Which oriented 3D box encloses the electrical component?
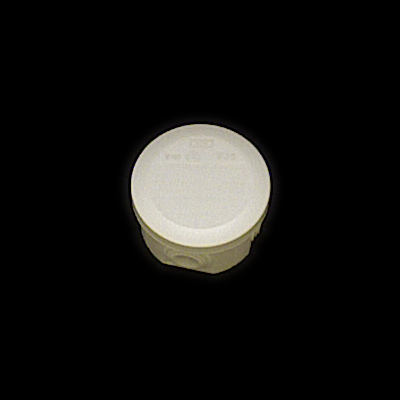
[{"bbox_3d":[0.000,0.000,0.630,0.080,0.080,0.050,0,-27,0],"label":"electrical component"}]
